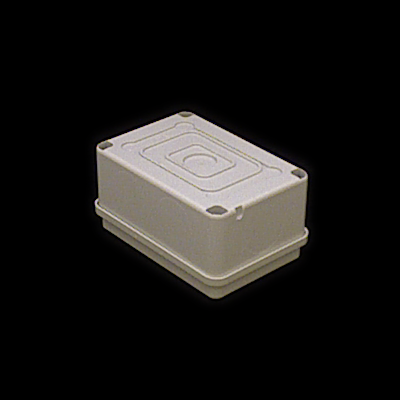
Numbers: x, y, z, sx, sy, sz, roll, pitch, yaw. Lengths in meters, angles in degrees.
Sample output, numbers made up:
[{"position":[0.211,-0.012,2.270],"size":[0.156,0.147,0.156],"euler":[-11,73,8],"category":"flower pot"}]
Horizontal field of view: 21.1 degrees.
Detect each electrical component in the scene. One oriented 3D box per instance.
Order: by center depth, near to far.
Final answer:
[{"position":[0.000,0.000,0.635],"size":[0.078,0.058,0.112],"euler":[-25,39,-35],"category":"electrical component"}]
